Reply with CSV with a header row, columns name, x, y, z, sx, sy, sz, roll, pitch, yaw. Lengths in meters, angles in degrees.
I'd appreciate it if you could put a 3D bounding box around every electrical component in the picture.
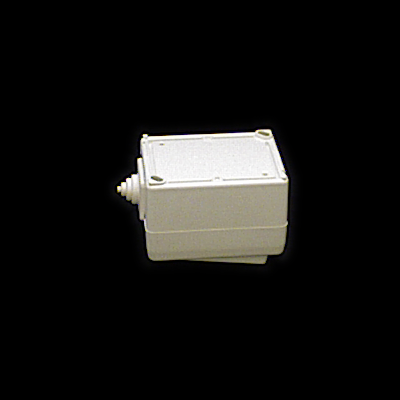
name,x,y,z,sx,sy,sz,roll,pitch,yaw
electrical component,0.000,0.000,0.631,0.096,0.061,0.061,-3,32,-6
